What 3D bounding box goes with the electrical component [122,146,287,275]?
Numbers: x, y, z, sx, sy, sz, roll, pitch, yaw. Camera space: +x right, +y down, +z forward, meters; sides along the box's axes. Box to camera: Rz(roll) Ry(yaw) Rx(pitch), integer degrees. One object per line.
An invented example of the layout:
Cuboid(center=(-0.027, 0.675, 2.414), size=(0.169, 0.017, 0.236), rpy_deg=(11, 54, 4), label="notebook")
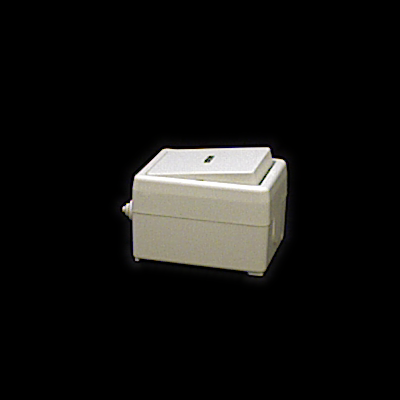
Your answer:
Cuboid(center=(0.000, 0.000, 0.639), size=(0.096, 0.061, 0.061), rpy_deg=(6, 21, 13), label="electrical component")
